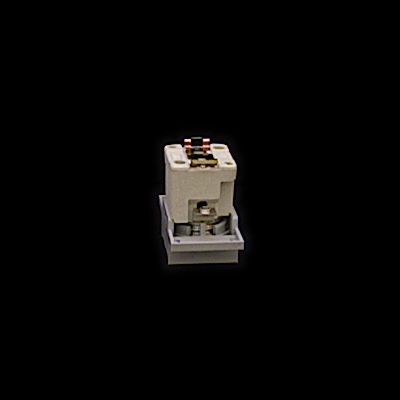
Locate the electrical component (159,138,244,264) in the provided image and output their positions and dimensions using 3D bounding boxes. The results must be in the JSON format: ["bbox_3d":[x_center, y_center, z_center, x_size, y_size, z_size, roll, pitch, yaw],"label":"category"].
[{"bbox_3d":[0.000,0.000,0.638,0.042,0.064,0.080,-2,21,-8],"label":"electrical component"}]
